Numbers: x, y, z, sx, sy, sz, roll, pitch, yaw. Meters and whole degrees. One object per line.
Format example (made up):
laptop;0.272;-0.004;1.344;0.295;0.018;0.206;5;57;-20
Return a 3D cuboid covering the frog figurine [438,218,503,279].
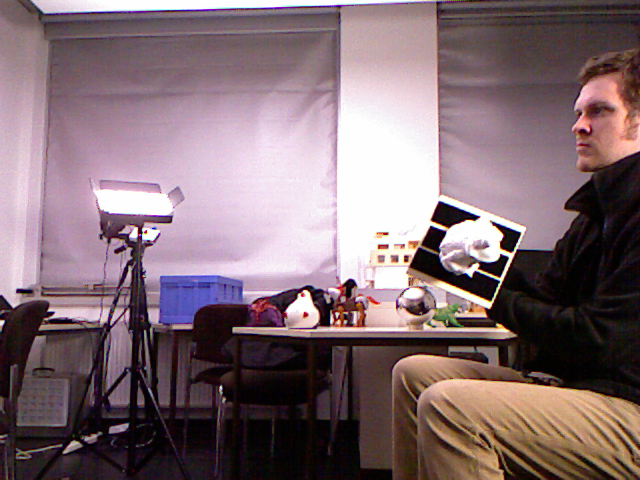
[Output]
frog figurine;0.325;0.014;1.126;0.124;0.138;0.158;43;-2;12
